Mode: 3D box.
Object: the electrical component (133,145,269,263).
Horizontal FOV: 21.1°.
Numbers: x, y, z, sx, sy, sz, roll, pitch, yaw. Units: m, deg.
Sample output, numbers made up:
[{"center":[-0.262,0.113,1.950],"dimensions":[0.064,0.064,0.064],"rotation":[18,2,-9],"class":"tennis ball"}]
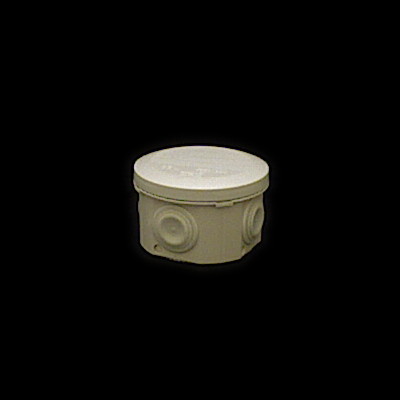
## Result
[{"center":[0.000,0.000,0.640],"dimensions":[0.080,0.051,0.079],"rotation":[1,21,0],"class":"electrical component"}]
